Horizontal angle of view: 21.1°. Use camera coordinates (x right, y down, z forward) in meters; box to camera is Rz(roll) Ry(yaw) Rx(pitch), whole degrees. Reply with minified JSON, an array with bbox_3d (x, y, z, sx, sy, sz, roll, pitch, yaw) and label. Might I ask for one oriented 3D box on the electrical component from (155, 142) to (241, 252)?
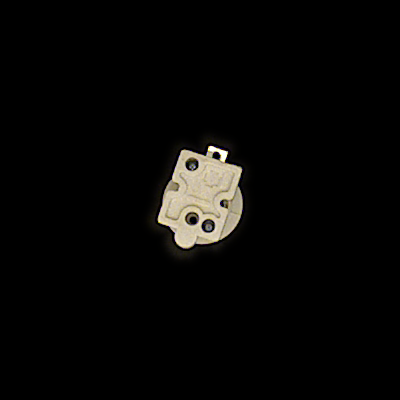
[{"bbox_3d":[0.000,0.000,0.638,0.048,0.067,0.055,19,-6,4],"label":"electrical component"}]
